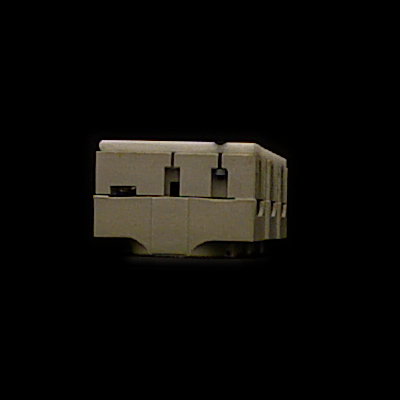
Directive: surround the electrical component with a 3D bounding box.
[{"bbox_3d":[0.000,0.000,0.653,0.089,0.062,0.150,1,-1,11],"label":"electrical component"}]
